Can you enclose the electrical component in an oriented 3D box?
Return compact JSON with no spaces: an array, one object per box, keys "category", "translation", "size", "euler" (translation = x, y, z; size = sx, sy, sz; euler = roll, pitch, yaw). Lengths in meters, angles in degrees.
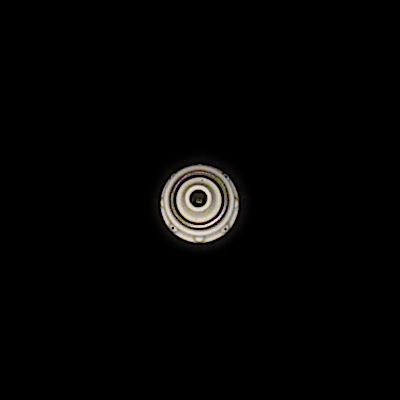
[{"category":"electrical component","translation":[0.000,0.000,0.635],"size":[0.048,0.048,0.062],"euler":[0,-4,1]}]
